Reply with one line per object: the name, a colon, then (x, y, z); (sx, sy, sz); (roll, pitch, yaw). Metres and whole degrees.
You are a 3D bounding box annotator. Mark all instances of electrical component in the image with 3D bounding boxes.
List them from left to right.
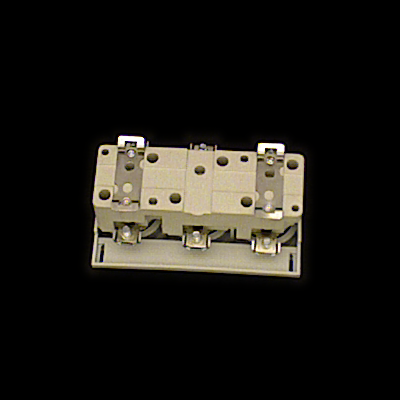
electrical component: (0.000, 0.000, 0.632); (0.121, 0.079, 0.063); (3, -26, 1)
